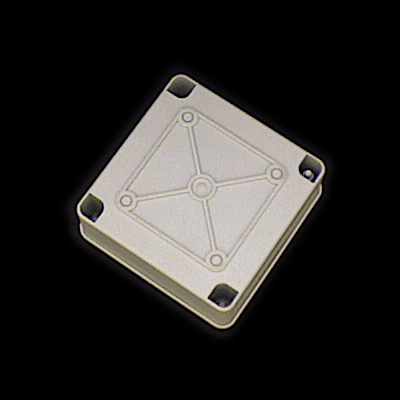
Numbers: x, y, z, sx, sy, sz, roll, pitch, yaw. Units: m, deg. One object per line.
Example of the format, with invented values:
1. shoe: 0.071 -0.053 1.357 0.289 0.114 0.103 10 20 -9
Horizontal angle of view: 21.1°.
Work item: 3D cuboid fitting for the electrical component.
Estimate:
1. electrical component: 0.000 0.000 0.628 0.109 0.109 0.056 33 -15 9
